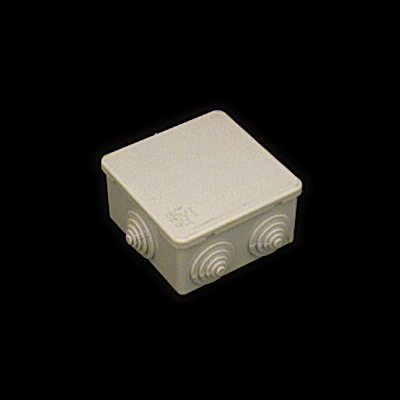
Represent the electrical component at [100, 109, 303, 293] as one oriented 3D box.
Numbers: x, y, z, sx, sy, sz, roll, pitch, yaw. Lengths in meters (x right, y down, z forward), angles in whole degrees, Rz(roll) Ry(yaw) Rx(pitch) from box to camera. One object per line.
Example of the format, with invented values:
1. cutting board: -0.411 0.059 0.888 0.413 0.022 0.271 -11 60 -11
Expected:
1. electrical component: 0.000 0.000 0.641 0.100 0.049 0.098 -24 48 -25
